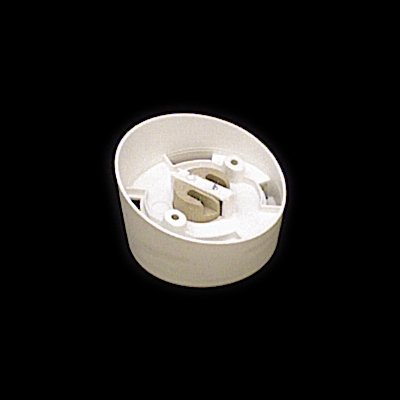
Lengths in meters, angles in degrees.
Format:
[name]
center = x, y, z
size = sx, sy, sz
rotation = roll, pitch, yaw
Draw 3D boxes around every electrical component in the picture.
[electrical component]
center = 0.000, 0.000, 0.629
size = 0.099, 0.065, 0.098
rotation = 0, 42, 0
